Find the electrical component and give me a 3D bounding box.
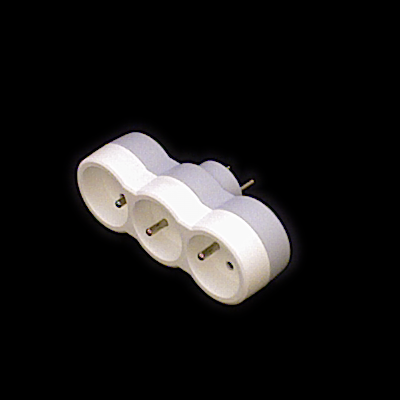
[{"bbox_3d":[0.000,0.000,0.635,0.137,0.052,0.074,31,48,30],"label":"electrical component"}]
